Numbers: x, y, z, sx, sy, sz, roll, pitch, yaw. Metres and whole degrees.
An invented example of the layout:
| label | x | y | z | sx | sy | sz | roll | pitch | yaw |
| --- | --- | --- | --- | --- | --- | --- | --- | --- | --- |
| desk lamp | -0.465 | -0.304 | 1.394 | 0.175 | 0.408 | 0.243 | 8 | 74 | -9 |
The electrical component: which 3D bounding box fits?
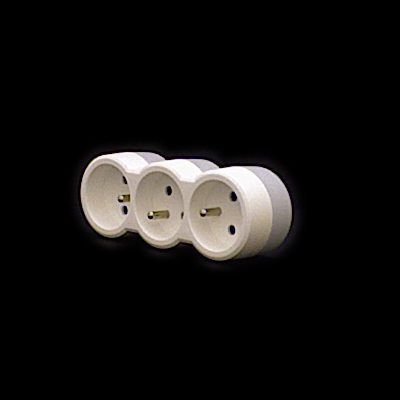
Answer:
| label | x | y | z | sx | sy | sz | roll | pitch | yaw |
| --- | --- | --- | --- | --- | --- | --- | --- | --- | --- |
| electrical component | 0.000 | 0.000 | 0.647 | 0.137 | 0.052 | 0.074 | 9 | 11 | 40 |
